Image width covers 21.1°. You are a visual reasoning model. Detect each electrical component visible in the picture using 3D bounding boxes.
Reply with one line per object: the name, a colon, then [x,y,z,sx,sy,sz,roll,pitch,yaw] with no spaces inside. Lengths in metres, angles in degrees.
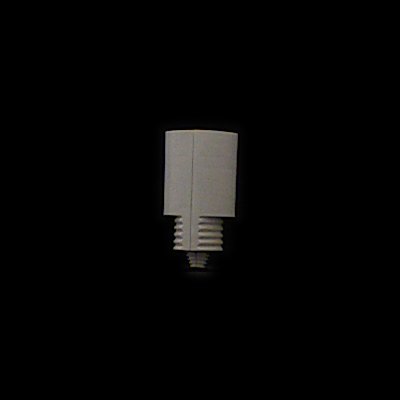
electrical component: [0.000,0.000,0.647,0.043,0.081,0.043,0,2,0]
